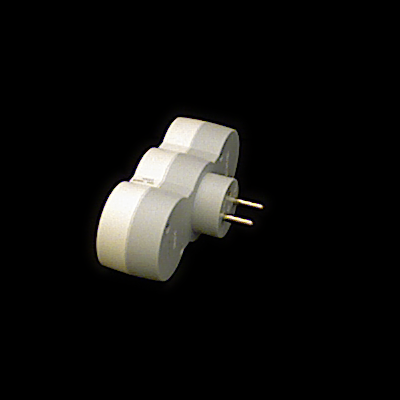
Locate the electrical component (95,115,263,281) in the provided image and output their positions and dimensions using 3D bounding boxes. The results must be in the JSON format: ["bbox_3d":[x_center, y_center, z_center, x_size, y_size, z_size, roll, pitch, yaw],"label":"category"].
[{"bbox_3d":[0.000,0.000,0.642,0.073,0.053,0.137,14,34,16],"label":"electrical component"}]
